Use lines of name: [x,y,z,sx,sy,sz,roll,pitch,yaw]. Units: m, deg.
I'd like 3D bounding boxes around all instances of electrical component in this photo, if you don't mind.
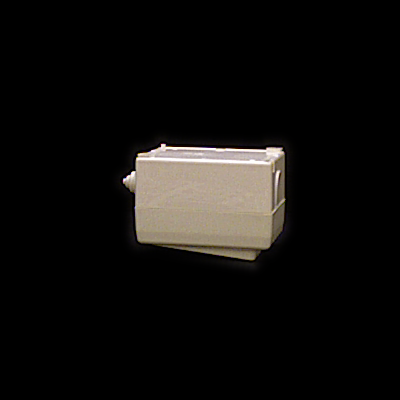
electrical component: [0.000,0.000,0.647,0.096,0.061,0.061,3,11,11]
